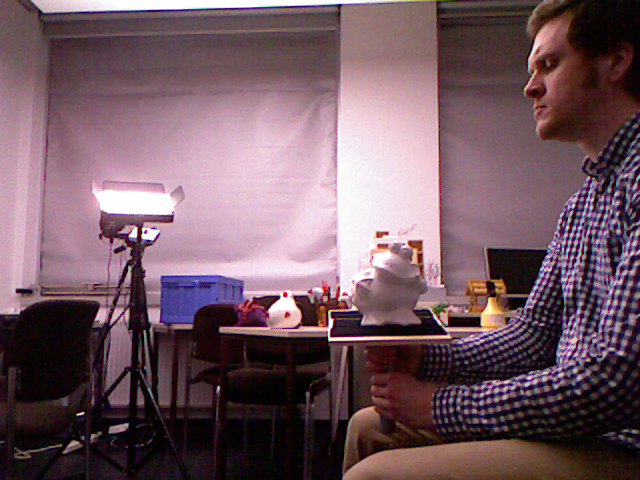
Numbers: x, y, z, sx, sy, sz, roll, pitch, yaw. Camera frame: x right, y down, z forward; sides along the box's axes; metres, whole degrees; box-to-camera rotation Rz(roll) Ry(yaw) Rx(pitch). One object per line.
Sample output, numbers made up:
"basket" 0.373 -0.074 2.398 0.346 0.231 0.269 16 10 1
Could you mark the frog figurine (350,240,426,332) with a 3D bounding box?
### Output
"frog figurine" 0.122 0.074 0.934 0.137 0.158 0.124 1 10 14
